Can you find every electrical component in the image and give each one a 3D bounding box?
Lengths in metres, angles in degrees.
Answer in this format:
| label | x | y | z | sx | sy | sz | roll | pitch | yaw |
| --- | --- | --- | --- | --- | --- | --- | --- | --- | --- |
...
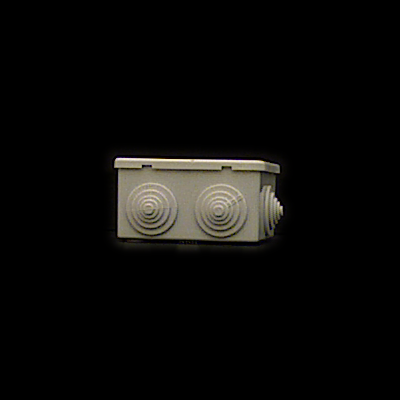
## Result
| label | x | y | z | sx | sy | sz | roll | pitch | yaw |
| --- | --- | --- | --- | --- | --- | --- | --- | --- | --- |
| electrical component | 0.000 | 0.000 | 0.658 | 0.099 | 0.048 | 0.100 | 2 | 1 | 10 |
